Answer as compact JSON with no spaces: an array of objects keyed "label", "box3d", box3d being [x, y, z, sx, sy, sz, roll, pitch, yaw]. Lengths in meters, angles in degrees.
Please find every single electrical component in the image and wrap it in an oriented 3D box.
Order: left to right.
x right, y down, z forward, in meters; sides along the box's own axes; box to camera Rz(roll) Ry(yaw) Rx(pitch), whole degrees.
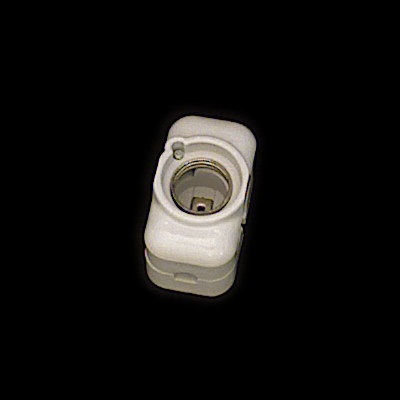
[{"label":"electrical component","box3d":[0.000,0.000,0.634,0.053,0.095,0.059,9,-27,4]}]
